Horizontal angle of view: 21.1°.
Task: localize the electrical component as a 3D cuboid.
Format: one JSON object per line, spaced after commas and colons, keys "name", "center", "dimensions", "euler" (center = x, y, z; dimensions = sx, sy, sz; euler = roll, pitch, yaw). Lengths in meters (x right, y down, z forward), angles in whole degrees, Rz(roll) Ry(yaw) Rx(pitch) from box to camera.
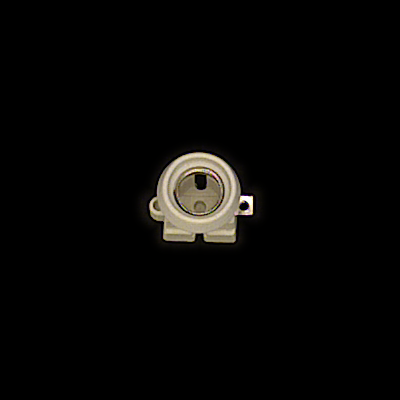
{"name": "electrical component", "center": [0.000, 0.000, 0.638], "dimensions": [0.066, 0.048, 0.055], "euler": [1, -14, 0]}
